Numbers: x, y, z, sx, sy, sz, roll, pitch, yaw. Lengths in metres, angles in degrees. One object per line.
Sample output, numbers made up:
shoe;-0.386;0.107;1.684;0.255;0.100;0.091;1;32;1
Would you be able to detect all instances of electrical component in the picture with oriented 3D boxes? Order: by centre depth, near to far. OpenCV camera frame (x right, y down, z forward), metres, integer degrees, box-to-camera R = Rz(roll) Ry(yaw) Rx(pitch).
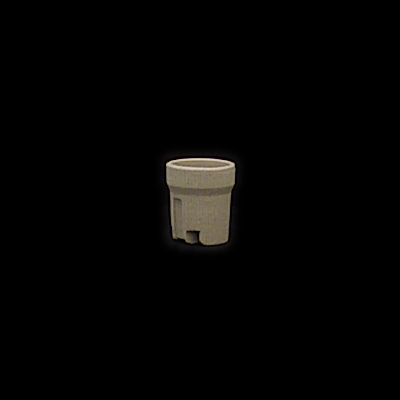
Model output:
electrical component;0.000;0.000;0.643;0.040;0.046;0.040;1;11;0
